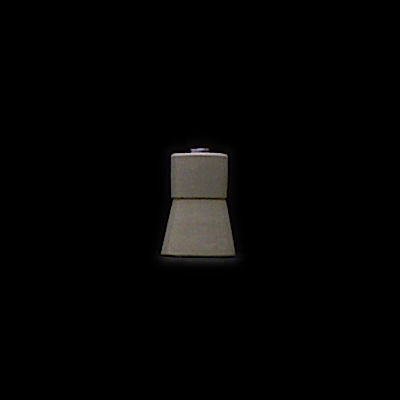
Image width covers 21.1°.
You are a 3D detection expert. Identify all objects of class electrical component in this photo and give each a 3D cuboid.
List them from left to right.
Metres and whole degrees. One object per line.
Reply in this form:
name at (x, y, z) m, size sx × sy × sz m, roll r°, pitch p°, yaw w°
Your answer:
electrical component at (0.000, 0.000, 0.649) m, size 0.044 × 0.065 × 0.044 m, roll 0°, pitch 2°, yaw 0°
